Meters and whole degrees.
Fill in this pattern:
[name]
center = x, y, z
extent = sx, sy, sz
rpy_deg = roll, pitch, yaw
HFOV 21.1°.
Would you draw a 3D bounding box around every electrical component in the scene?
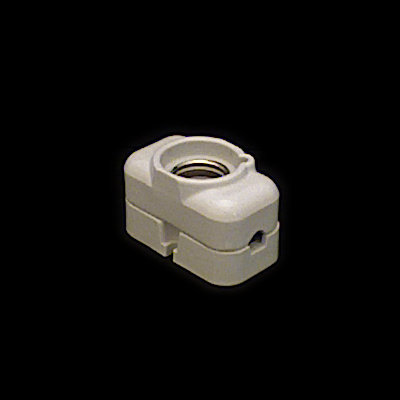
[electrical component]
center = 0.000, 0.000, 0.642
extent = 0.094, 0.060, 0.054
rpy_deg = 28, 42, 36
